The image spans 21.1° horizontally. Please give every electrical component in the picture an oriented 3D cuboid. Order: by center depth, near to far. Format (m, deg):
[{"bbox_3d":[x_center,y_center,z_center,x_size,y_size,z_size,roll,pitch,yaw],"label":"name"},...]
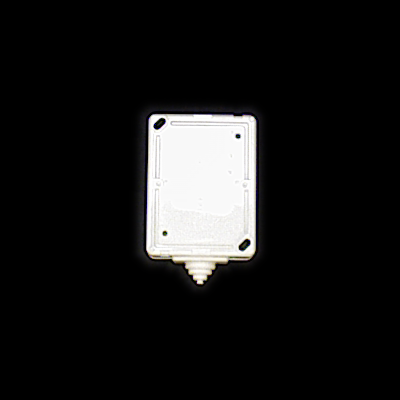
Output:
[{"bbox_3d":[0.000,0.000,0.625,0.062,0.097,0.060,1,-7,0],"label":"electrical component"}]
